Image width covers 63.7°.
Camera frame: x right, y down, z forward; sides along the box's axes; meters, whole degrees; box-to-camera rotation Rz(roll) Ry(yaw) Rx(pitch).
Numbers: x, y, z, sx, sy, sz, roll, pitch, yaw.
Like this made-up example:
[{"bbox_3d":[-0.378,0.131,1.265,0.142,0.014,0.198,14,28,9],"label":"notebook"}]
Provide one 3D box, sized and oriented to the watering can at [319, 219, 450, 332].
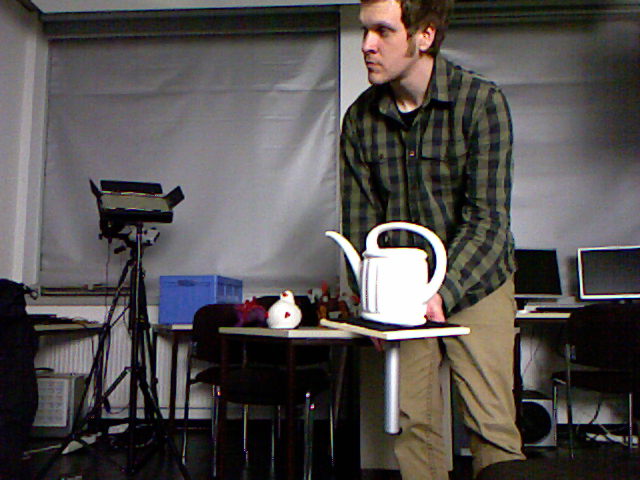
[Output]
[{"bbox_3d":[0.114,0.069,1.031,0.104,0.225,0.348,1,2,-39],"label":"watering can"}]
